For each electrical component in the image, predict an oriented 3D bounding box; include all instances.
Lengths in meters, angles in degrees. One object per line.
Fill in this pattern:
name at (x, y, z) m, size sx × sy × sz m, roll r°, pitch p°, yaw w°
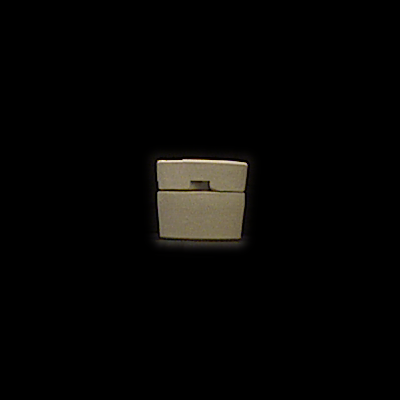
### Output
electrical component at (0.000, 0.000, 0.652) m, size 0.055 × 0.047 × 0.055 m, roll 1°, pitch 1°, yaw 0°
